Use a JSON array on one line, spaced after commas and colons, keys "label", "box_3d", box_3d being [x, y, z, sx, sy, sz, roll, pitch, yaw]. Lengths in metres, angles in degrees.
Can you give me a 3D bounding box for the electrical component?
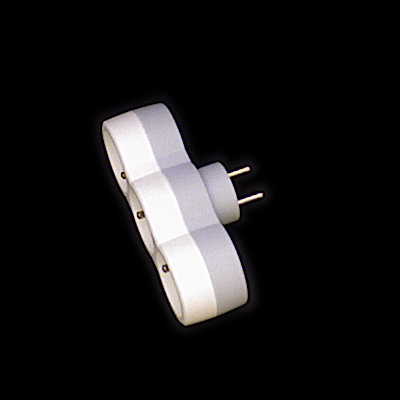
[{"label": "electrical component", "box_3d": [0.000, 0.000, 0.632, 0.074, 0.138, 0.052, -20, -26, -12]}]
